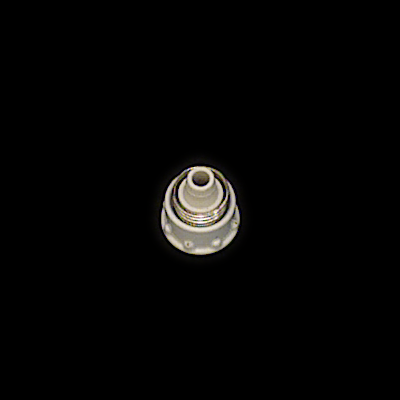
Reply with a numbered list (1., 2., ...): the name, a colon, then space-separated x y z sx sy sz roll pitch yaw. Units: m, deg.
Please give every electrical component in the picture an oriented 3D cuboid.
1. electrical component: 0.000 0.000 0.633 0.048 0.048 0.062 0 -26 0
